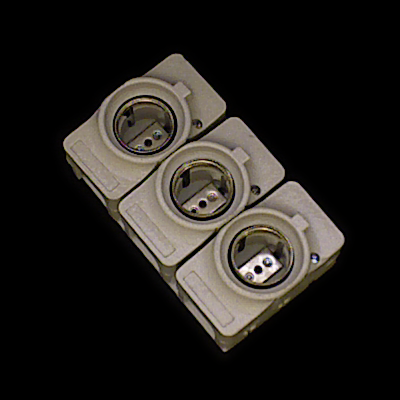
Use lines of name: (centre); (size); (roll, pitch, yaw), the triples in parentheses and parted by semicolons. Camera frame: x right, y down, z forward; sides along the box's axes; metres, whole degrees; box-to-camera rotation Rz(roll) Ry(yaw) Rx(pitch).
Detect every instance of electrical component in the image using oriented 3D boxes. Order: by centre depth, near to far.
electrical component: (0.000, 0.000, 0.632); (0.089, 0.150, 0.062); (-39, -13, -11)
